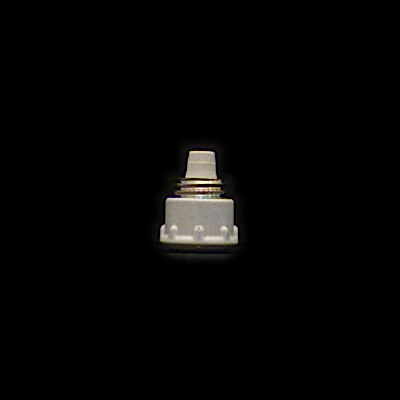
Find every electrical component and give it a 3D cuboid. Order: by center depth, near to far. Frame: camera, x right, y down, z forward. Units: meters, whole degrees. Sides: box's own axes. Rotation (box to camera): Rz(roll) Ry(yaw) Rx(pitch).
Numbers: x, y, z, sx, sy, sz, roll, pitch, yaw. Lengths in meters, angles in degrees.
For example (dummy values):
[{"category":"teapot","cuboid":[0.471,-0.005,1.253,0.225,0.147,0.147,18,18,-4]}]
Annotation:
[{"category":"electrical component","cuboid":[0.000,0.000,0.658,0.048,0.062,0.048,2,1,1]}]
